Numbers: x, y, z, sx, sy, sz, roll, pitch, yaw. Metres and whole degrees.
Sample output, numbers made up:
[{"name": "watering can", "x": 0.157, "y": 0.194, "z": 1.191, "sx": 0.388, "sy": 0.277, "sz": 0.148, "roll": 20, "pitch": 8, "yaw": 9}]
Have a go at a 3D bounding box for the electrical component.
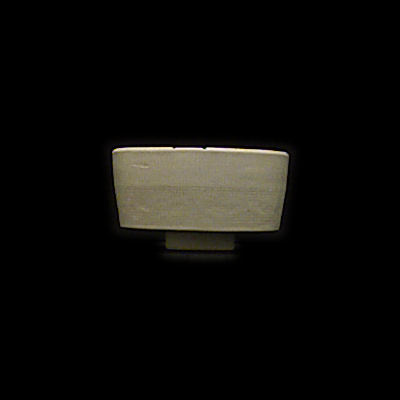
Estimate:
[{"name": "electrical component", "x": 0.000, "y": 0.000, "z": 0.660, "sx": 0.108, "sy": 0.060, "sz": 0.108, "roll": 1, "pitch": 1, "yaw": 1}]
